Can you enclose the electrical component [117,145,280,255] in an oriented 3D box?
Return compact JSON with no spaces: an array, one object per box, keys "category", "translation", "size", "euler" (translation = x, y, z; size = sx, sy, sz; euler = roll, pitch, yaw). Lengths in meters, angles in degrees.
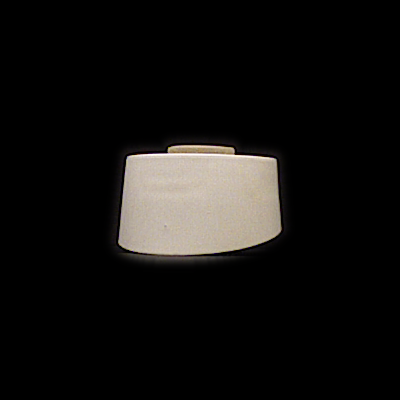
[{"category":"electrical component","translation":[0.000,0.000,0.650],"size":[0.099,0.064,0.099],"euler":[1,0,0]}]
